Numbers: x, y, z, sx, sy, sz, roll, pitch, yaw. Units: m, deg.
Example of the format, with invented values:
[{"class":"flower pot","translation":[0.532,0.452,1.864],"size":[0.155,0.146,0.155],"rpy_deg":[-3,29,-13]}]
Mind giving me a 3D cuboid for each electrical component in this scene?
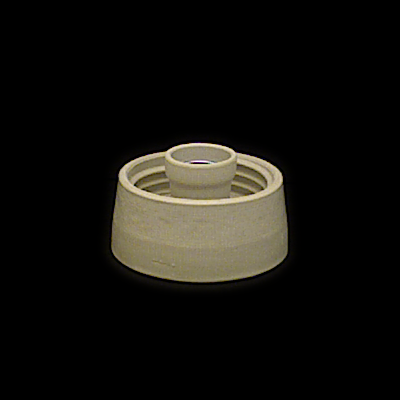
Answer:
[{"class":"electrical component","translation":[0.000,0.000,0.647],"size":[0.108,0.061,0.106],"rpy_deg":[1,21,0]}]
